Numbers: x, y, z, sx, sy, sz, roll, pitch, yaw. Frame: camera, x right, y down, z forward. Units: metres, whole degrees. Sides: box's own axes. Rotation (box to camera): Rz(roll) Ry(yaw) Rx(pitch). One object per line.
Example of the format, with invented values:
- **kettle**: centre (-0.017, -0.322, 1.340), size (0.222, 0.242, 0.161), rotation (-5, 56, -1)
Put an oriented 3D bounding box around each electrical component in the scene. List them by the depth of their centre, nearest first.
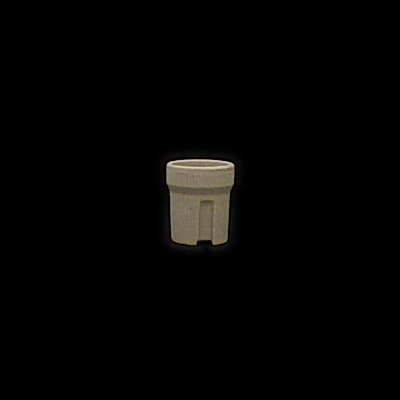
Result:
- **electrical component**: centre (0.000, 0.000, 0.646), size (0.040, 0.046, 0.040), rotation (1, 11, 0)
